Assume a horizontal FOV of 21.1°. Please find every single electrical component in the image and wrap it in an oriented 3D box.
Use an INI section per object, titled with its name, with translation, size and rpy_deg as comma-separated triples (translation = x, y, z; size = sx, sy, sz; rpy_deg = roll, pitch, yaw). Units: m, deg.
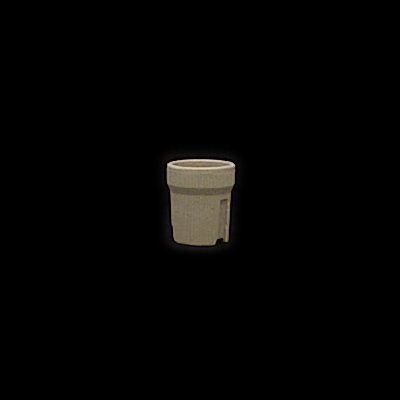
[electrical component]
translation = 0.000, 0.000, 0.646
size = 0.040, 0.046, 0.040
rpy_deg = 1, 11, 0
